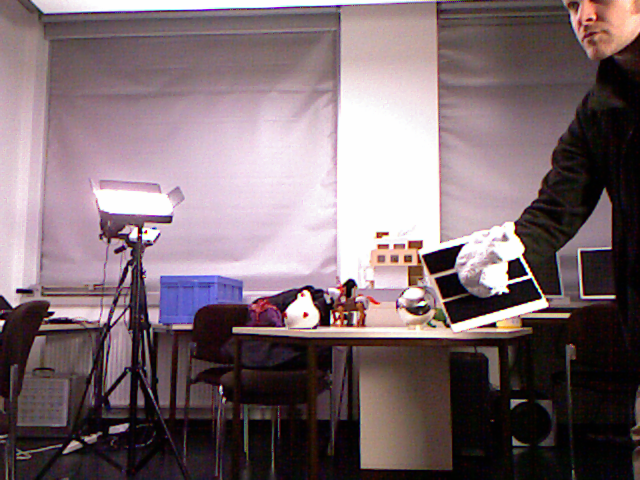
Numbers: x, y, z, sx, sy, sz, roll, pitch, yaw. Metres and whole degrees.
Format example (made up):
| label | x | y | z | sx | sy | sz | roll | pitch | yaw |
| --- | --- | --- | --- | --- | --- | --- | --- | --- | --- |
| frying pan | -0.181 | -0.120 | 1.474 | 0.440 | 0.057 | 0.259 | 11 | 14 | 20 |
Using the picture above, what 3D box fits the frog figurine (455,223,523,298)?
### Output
| label | x | y | z | sx | sy | sz | roll | pitch | yaw |
| --- | --- | --- | --- | --- | --- | --- | --- | --- | --- |
| frog figurine | 0.344 | 0.040 | 1.050 | 0.123 | 0.141 | 0.156 | 2 | -30 | 5 |
